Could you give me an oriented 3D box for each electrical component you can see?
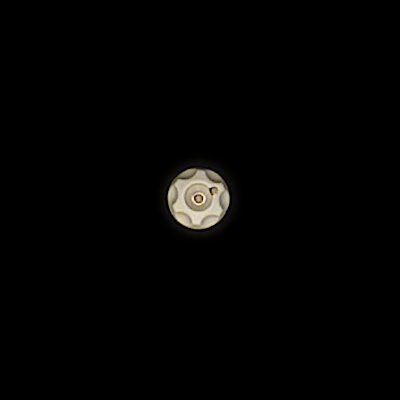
[{"bbox_3d":[0.000,0.000,0.634,0.035,0.035,0.061,0,-5,0],"label":"electrical component"}]
